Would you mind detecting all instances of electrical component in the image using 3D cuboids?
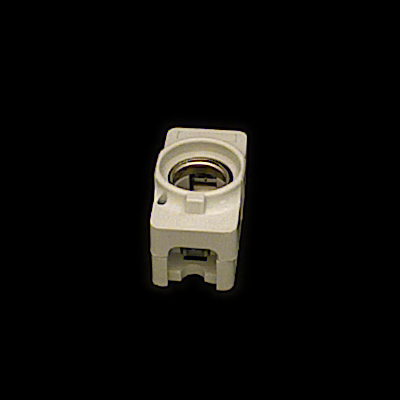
[{"bbox_3d":[0.000,0.000,0.639,0.050,0.056,0.089,4,42,4],"label":"electrical component"}]
